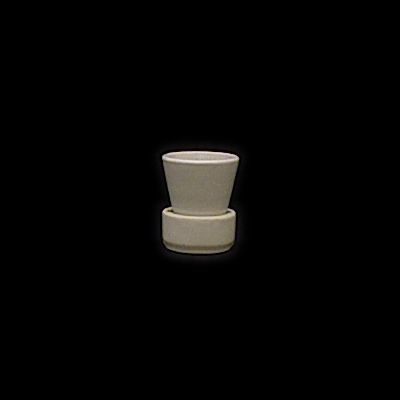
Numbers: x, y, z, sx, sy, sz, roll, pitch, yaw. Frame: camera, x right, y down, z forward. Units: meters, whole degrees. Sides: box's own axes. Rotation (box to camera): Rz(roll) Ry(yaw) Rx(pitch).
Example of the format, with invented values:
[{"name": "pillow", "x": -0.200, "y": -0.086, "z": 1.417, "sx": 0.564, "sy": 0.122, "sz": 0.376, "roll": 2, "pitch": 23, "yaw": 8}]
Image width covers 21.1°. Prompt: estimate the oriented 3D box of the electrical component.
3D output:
[{"name": "electrical component", "x": 0.000, "y": 0.000, "z": 0.643, "sx": 0.045, "sy": 0.055, "sz": 0.044, "roll": 1, "pitch": 12, "yaw": 0}]
